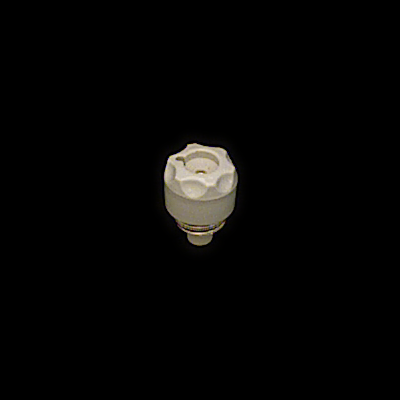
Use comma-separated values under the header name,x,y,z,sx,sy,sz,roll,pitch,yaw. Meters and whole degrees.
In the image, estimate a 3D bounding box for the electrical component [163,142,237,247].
name,x,y,z,sx,sy,sz,roll,pitch,yaw
electrical component,0.000,0.000,0.638,0.043,0.062,0.043,1,42,0
